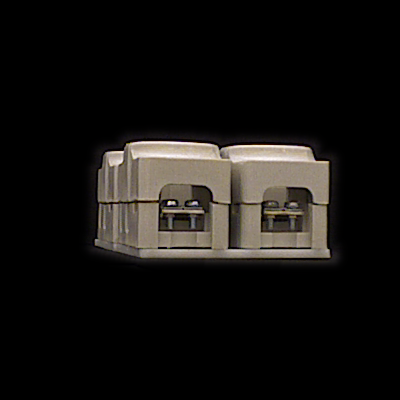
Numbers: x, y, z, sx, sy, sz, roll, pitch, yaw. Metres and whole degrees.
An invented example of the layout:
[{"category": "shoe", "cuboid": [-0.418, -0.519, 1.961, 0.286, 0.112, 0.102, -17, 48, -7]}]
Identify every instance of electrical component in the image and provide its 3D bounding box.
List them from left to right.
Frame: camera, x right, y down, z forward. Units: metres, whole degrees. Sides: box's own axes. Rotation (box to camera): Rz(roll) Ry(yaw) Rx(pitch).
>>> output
[{"category": "electrical component", "cuboid": [0.000, 0.000, 0.649, 0.106, 0.060, 0.186, 1, -1, -13]}]
